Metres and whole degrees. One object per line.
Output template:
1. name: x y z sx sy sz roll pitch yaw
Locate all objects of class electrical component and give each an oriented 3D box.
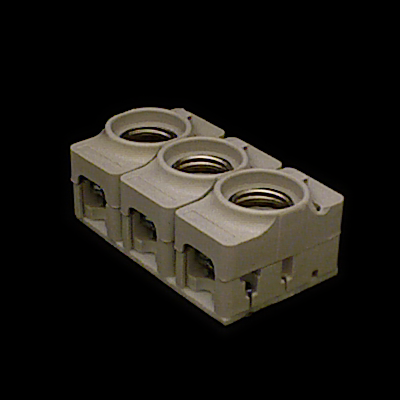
1. electrical component: 0.000 0.000 0.642 0.089 0.063 0.148 -22 39 -34
